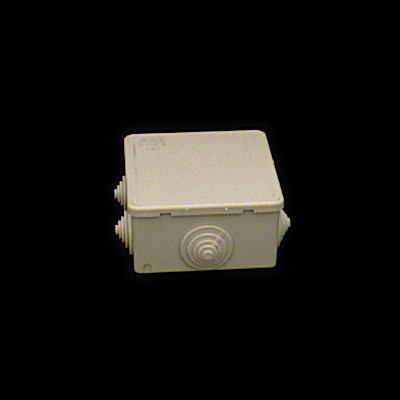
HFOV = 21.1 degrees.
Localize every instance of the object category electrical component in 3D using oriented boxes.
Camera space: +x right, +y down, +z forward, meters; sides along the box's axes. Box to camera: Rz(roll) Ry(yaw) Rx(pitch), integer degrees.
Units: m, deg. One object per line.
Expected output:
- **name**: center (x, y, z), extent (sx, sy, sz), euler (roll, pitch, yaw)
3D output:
- **electrical component**: center (0.000, 0.000, 0.645), extent (0.100, 0.049, 0.098), euler (-2, 32, -5)
